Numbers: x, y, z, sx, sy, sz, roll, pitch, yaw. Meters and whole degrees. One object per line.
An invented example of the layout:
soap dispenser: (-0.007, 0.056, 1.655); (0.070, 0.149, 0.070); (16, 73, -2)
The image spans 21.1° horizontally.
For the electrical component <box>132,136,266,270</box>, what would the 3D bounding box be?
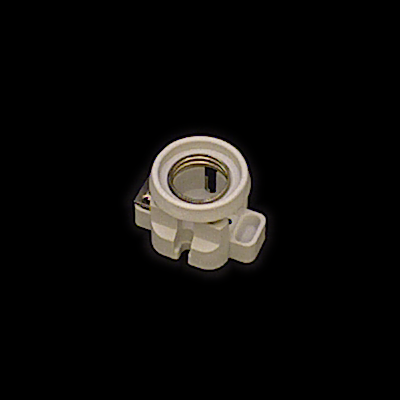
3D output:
electrical component: (0.000, 0.000, 0.629); (0.078, 0.058, 0.057); (19, -35, 13)
